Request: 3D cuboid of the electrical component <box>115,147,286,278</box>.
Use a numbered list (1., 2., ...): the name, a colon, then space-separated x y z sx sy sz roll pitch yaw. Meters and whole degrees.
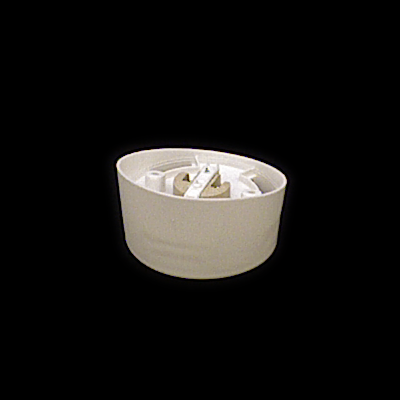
1. electrical component: 0.000 0.000 0.632 0.099 0.065 0.097 1 32 0
